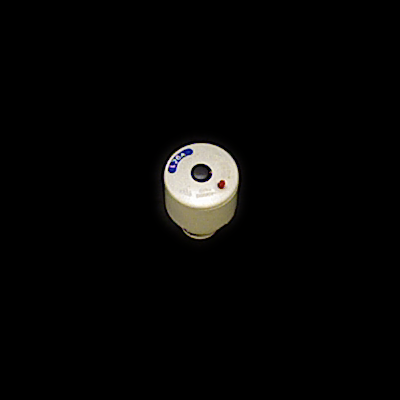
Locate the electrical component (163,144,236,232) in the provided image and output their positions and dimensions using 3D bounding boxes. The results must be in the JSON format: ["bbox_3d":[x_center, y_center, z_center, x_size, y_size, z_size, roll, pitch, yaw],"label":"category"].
[{"bbox_3d":[0.000,0.000,0.617,0.040,0.040,0.078,0,-27,-1],"label":"electrical component"}]
